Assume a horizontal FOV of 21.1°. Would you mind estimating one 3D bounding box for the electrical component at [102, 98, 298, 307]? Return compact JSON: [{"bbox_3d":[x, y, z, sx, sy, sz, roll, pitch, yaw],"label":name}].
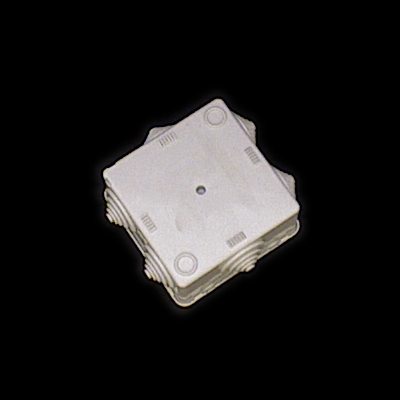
[{"bbox_3d":[0.000,0.000,0.632,0.100,0.100,0.048,-33,-14,-9],"label":"electrical component"}]
